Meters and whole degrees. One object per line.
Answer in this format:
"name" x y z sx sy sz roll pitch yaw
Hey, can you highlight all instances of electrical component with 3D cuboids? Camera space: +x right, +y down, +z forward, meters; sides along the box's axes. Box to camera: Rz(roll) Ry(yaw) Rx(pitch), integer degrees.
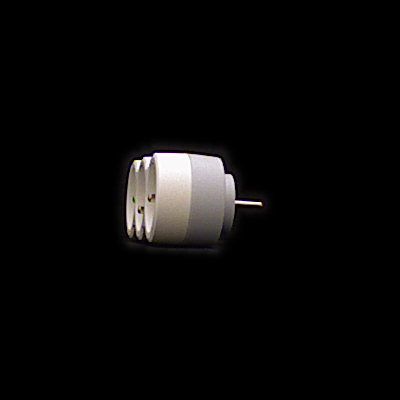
"electrical component" 0.000 0.000 0.653 0.074 0.052 0.138 3 -1 -11
